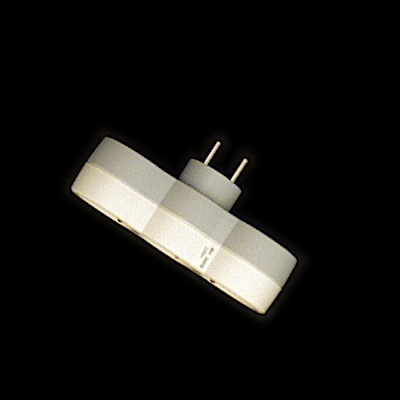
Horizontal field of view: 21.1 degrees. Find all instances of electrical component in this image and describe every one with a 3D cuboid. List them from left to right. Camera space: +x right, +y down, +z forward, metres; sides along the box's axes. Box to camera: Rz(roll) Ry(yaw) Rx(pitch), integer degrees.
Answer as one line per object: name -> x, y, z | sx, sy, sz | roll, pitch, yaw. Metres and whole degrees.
electrical component -> 0.000, 0.000, 0.639 | 0.138, 0.074, 0.052 | 33, -6, 3
